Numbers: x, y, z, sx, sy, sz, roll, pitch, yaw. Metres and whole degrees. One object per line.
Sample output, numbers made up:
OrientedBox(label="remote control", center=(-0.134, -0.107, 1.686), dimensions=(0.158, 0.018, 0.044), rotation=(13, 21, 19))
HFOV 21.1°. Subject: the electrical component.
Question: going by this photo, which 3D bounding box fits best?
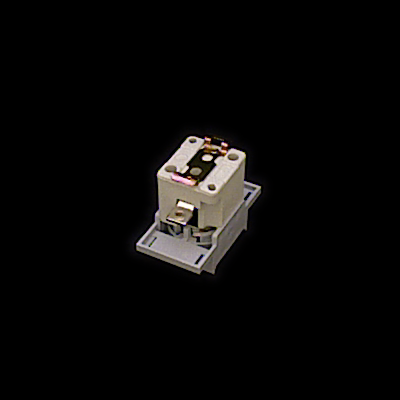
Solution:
OrientedBox(label="electrical component", center=(0.000, 0.000, 0.630), dimensions=(0.042, 0.064, 0.080), rotation=(19, 45, 20))
